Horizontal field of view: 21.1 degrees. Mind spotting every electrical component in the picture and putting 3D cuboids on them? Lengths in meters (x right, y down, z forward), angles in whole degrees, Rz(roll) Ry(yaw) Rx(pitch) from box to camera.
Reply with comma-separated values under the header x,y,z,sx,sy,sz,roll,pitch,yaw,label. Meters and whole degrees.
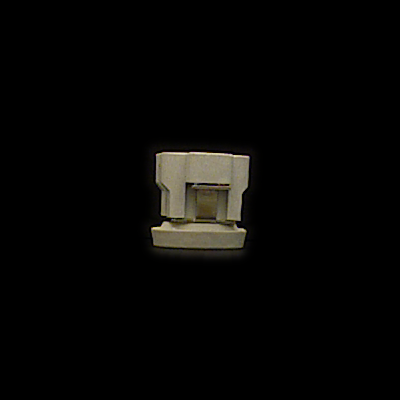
x,y,z,sx,sy,sz,roll,pitch,yaw,label
0.000,0.000,0.655,0.058,0.057,0.078,2,2,-10,electrical component
